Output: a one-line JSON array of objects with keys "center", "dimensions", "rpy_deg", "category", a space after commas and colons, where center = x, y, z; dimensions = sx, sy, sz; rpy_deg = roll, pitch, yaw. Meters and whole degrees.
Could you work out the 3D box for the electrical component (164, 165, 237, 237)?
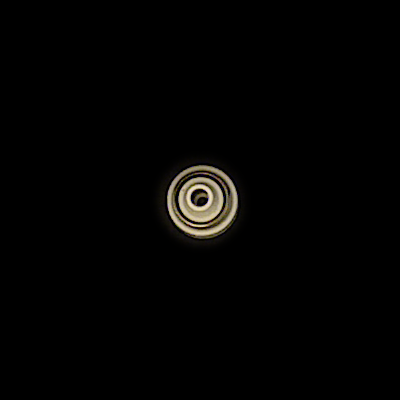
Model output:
[{"center": [0.000, 0.000, 0.635], "dimensions": [0.043, 0.043, 0.062], "rpy_deg": [0, -5, 2], "category": "electrical component"}]
